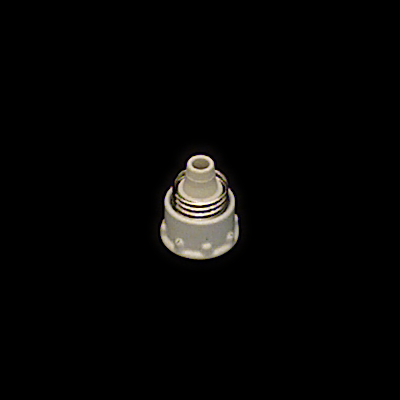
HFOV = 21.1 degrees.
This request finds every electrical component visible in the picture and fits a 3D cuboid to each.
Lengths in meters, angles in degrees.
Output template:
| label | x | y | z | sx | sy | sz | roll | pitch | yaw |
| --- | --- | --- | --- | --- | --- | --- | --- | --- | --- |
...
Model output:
| label | x | y | z | sx | sy | sz | roll | pitch | yaw |
| --- | --- | --- | --- | --- | --- | --- | --- | --- | --- |
| electrical component | 0.000 | 0.000 | 0.637 | 0.048 | 0.062 | 0.047 | 1 | 44 | 0 |
